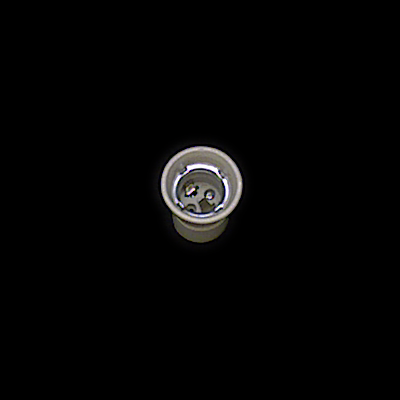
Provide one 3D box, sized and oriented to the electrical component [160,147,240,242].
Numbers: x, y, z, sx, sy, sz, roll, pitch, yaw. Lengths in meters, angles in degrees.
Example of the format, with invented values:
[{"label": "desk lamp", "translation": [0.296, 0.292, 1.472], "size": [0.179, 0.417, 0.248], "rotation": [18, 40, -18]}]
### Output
[{"label": "electrical component", "translation": [0.000, 0.000, 0.625], "size": [0.044, 0.044, 0.065], "rotation": [0, -18, 0]}]
